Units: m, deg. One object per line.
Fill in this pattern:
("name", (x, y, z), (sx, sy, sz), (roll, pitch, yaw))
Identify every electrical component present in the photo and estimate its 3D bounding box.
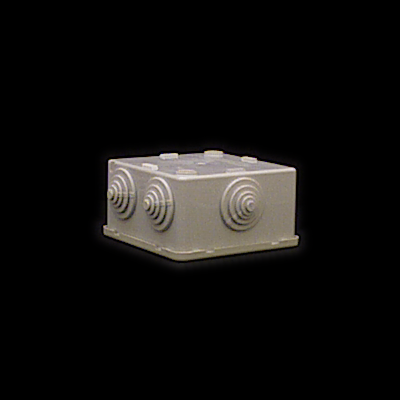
("electrical component", (0.000, 0.000, 0.646), (0.100, 0.049, 0.099), (-6, 12, -34))
